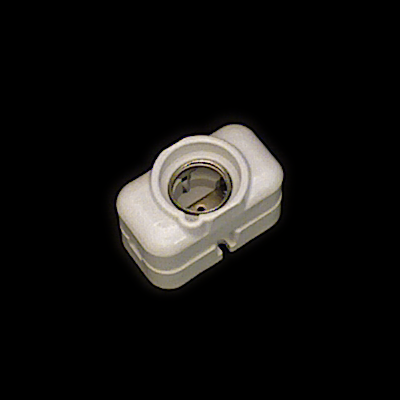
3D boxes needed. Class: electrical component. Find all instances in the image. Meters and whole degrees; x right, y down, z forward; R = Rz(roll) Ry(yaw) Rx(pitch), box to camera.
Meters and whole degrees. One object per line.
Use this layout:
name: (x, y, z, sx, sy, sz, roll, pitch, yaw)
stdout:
electrical component: (0.000, 0.000, 0.633, 0.095, 0.053, 0.059, -33, -23, -15)
